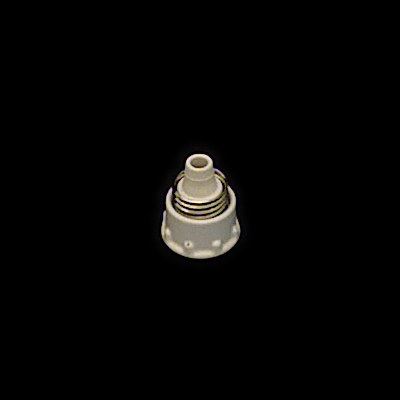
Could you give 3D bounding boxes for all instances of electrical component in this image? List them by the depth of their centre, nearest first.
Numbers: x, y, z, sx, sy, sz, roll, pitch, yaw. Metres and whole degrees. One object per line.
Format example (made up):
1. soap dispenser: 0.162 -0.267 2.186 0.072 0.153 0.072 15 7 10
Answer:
1. electrical component: 0.000 0.000 0.636 0.048 0.062 0.047 0 43 1
